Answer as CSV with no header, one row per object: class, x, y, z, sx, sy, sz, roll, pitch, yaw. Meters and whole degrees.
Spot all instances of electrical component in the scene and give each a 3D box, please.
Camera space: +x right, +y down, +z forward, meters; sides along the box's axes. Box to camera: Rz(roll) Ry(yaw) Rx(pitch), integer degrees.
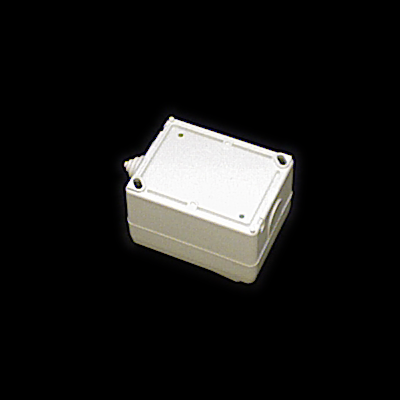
electrical component,0.000,0.000,0.628,0.096,0.062,0.061,19,-35,14
